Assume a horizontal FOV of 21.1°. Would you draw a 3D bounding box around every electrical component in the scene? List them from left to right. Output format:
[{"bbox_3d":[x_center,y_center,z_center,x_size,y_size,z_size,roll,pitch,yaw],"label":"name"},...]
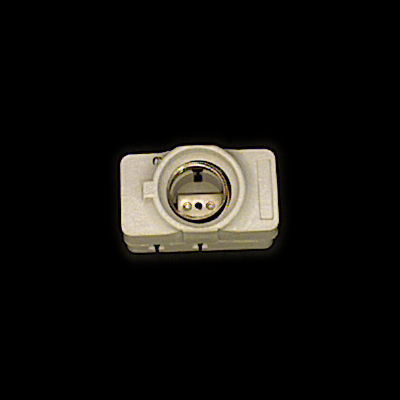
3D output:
[{"bbox_3d":[0.000,0.000,0.636,0.090,0.050,0.055,-3,-16,-1],"label":"electrical component"}]
